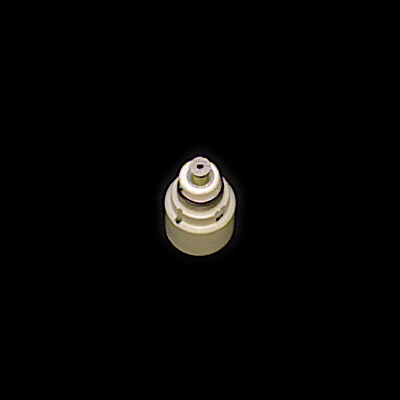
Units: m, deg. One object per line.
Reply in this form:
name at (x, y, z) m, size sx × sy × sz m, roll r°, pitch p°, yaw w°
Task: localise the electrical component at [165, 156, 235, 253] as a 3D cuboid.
electrical component at (0.000, 0.000, 0.618) m, size 0.040 × 0.040 × 0.078 m, roll 0°, pitch -28°, yaw -1°
